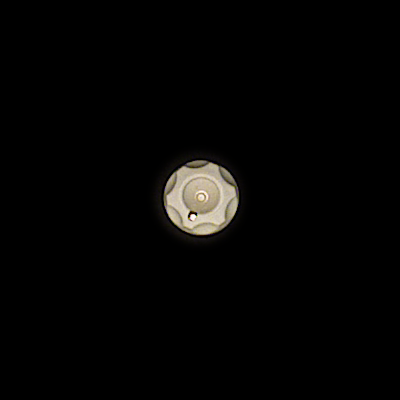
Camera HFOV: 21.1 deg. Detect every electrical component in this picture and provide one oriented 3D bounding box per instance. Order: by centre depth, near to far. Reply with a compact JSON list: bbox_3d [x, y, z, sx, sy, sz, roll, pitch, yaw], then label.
[{"bbox_3d":[0.000,0.000,0.635,0.043,0.043,0.062,0,-6,1],"label":"electrical component"}]
